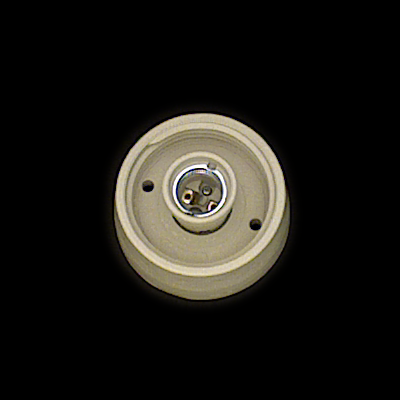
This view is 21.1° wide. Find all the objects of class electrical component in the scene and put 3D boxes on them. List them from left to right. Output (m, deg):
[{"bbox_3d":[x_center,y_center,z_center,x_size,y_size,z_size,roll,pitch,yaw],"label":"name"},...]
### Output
[{"bbox_3d":[0.000,0.000,0.634,0.108,0.108,0.060,0,-16,0],"label":"electrical component"}]
